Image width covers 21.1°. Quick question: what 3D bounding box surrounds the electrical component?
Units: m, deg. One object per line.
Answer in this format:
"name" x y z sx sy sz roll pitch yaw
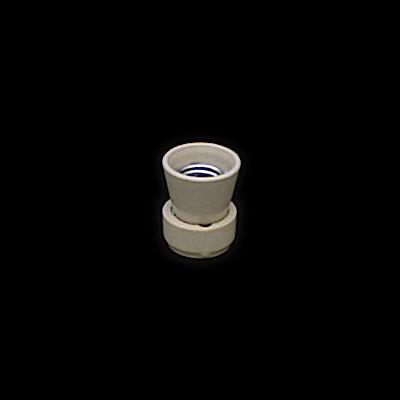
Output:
"electrical component" 0.000 0.000 0.637 0.045 0.056 0.044 1 32 -1
